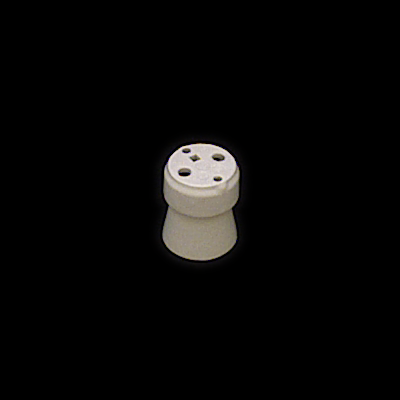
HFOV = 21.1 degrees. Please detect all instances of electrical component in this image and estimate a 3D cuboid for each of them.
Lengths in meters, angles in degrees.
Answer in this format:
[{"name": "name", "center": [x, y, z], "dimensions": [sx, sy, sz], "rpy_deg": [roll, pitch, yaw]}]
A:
[{"name": "electrical component", "center": [0.000, 0.000, 0.633], "dimensions": [0.045, 0.056, 0.044], "rpy_deg": [1, 42, -1]}]
